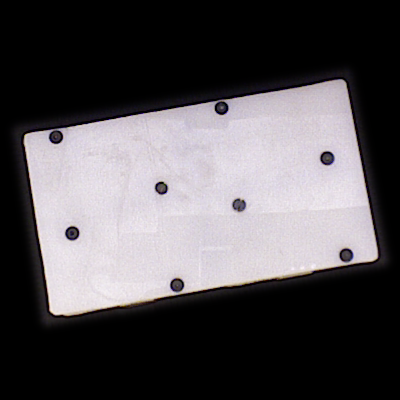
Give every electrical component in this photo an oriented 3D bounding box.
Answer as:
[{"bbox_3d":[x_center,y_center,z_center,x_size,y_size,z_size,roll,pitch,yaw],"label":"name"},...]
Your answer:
[{"bbox_3d":[0.000,0.000,0.626,0.186,0.106,0.060,-10,-7,-1],"label":"electrical component"}]
